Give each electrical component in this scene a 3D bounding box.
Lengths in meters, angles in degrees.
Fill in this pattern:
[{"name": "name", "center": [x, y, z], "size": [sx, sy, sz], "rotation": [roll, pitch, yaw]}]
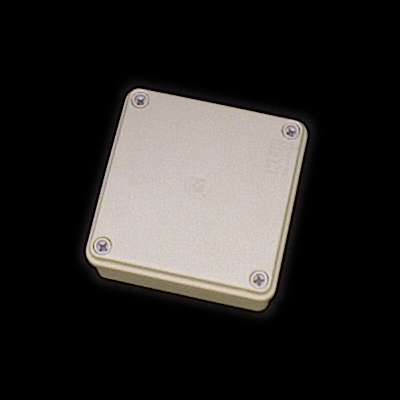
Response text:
[{"name": "electrical component", "center": [0.000, 0.000, 0.629], "size": [0.109, 0.109, 0.056], "rotation": [12, -17, 4]}]
